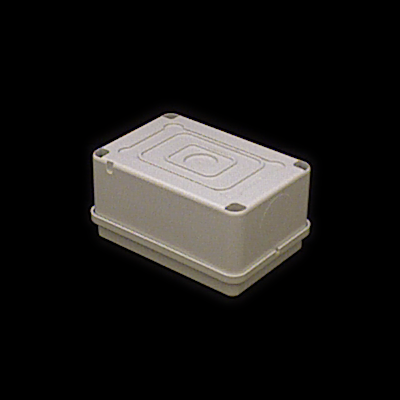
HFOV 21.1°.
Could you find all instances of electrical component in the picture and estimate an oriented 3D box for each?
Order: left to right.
[{"bbox_3d":[0.000,0.000,0.635,0.112,0.058,0.078,23,38,31],"label":"electrical component"}]
